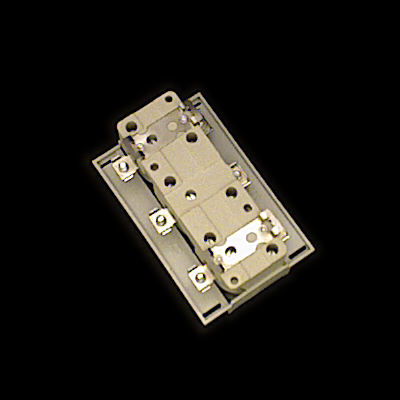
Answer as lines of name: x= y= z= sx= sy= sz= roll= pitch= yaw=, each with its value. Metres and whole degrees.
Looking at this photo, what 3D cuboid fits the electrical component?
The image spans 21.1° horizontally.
electrical component: x=0.000 y=0.000 z=0.634 sx=0.079 sy=0.121 sz=0.063 roll=-33 pitch=-13 yaw=-9
